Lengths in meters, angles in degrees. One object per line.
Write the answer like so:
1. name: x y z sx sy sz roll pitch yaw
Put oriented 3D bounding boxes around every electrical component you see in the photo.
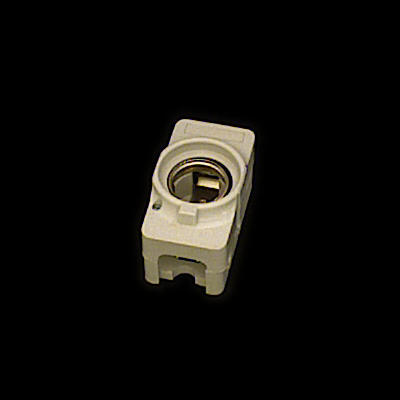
1. electrical component: 0.000 0.000 0.637 0.050 0.089 0.056 10 -37 7
